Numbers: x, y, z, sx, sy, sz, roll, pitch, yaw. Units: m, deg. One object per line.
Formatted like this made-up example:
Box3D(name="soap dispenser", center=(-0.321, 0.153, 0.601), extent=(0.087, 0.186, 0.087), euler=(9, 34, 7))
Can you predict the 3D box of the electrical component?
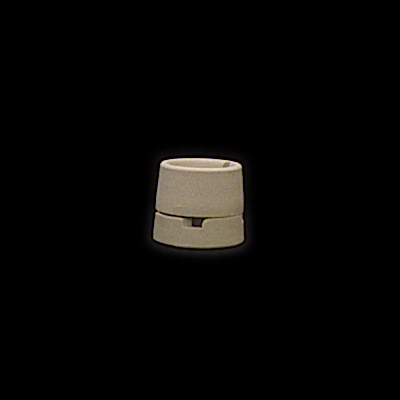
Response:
Box3D(name="electrical component", center=(0.000, 0.000, 0.647), extent=(0.055, 0.047, 0.055), euler=(2, 10, 0))
